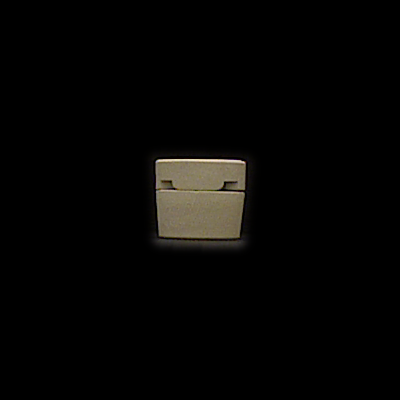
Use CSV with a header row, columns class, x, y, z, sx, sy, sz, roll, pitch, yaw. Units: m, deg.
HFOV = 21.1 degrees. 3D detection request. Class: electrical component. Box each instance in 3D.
class,x,y,z,sx,sy,sz,roll,pitch,yaw
electrical component,0.000,0.000,0.649,0.055,0.047,0.055,1,0,0
